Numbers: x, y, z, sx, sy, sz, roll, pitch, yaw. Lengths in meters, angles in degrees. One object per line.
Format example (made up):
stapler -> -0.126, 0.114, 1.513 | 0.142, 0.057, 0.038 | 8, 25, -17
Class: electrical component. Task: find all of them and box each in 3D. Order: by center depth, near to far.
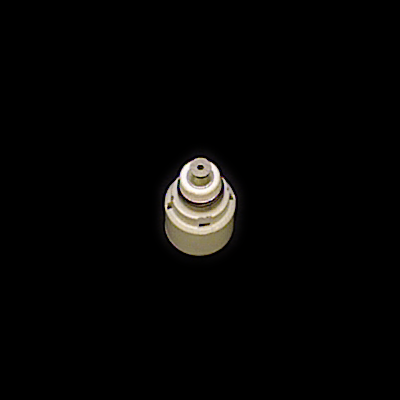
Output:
electrical component -> 0.000, 0.000, 0.618 | 0.040, 0.040, 0.078 | 0, -28, -1
